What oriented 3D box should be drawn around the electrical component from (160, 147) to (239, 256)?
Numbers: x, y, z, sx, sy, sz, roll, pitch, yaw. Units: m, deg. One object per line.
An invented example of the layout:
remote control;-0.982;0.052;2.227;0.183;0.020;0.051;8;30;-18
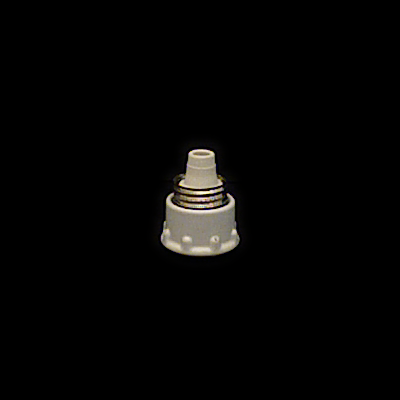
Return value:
electrical component;0.000;0.000;0.647;0.048;0.063;0.047;2;21;0
